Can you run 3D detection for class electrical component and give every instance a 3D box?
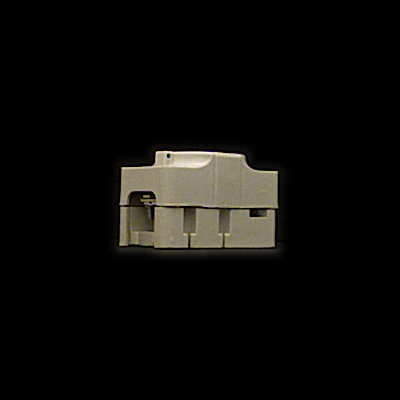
[{"bbox_3d":[0.000,0.000,0.657,0.090,0.056,0.049,1,1,-41],"label":"electrical component"}]
